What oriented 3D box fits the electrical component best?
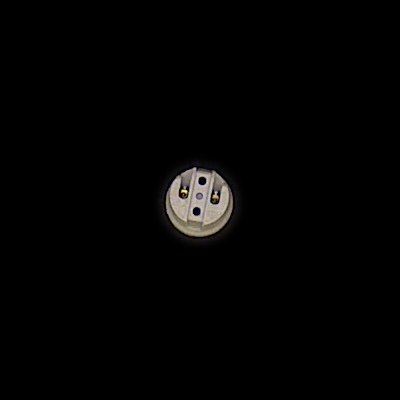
[{"bbox_3d":[0.000,0.000,0.635,0.040,0.040,0.046,0,-6,0],"label":"electrical component"}]
